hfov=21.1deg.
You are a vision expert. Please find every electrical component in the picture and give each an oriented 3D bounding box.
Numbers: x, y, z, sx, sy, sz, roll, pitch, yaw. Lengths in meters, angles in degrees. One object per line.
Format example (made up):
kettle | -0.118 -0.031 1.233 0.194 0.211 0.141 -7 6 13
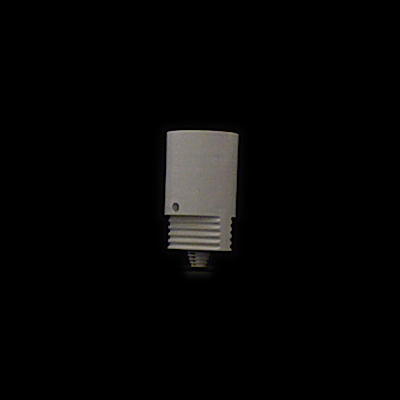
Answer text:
electrical component | 0.000 0.000 0.650 0.043 0.081 0.043 1 2 0
